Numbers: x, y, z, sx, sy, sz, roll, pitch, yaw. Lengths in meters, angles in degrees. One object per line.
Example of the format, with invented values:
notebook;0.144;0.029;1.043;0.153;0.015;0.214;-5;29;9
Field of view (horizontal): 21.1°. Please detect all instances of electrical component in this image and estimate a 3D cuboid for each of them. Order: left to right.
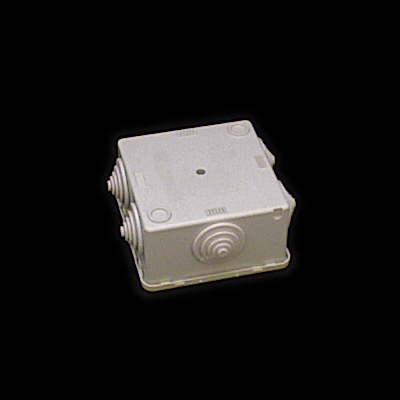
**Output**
electrical component;0.000;0.000;0.633;0.100;0.049;0.099;-9;43;-11
